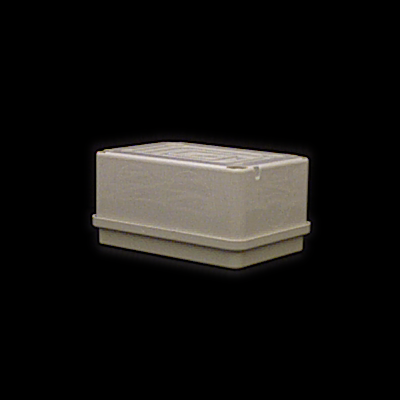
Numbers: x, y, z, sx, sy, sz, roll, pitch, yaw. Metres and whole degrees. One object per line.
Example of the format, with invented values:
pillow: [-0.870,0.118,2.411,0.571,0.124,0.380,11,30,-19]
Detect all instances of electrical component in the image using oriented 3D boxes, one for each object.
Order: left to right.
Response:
electrical component: [0.000,0.000,0.644,0.112,0.057,0.078,8,13,37]
